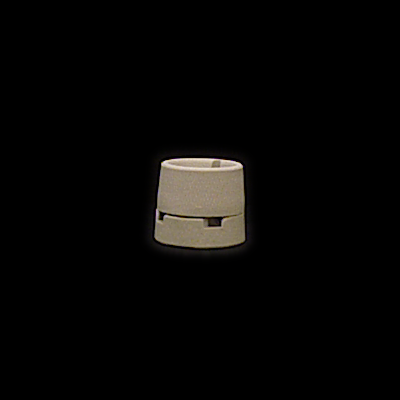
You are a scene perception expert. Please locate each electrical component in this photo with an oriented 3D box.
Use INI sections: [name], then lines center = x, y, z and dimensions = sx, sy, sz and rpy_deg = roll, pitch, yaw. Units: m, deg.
[electrical component]
center = 0.000, 0.000, 0.647
dimensions = 0.055, 0.047, 0.055
rpy_deg = 2, 10, 0
